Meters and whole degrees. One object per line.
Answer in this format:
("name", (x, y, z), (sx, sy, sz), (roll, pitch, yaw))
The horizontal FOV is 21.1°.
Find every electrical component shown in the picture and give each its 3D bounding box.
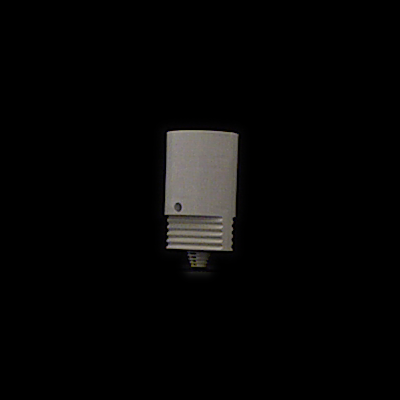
("electrical component", (0.000, 0.000, 0.651), (0.043, 0.081, 0.043), (1, 2, 0))
